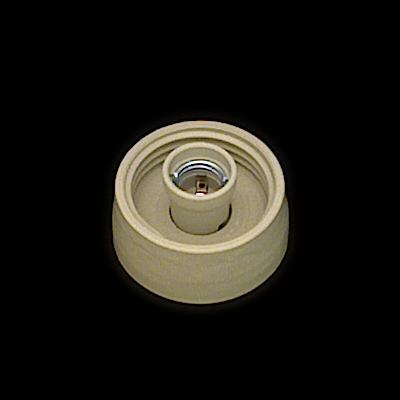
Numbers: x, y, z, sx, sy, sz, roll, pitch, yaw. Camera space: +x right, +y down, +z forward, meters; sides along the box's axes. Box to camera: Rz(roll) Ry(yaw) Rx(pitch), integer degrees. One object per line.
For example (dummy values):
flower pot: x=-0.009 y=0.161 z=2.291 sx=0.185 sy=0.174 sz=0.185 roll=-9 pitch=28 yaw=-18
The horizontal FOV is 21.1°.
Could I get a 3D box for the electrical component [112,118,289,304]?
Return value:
electrical component: x=0.000 y=0.000 z=0.634 sx=0.108 sy=0.107 sz=0.060 roll=0 pitch=-37 yaw=-1
